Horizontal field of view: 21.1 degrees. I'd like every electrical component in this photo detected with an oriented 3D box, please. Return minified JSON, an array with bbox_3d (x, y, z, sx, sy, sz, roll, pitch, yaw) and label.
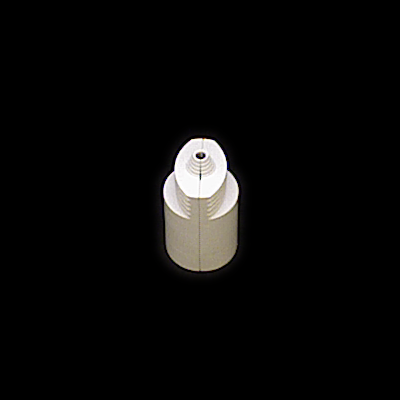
[{"bbox_3d":[0.000,0.000,0.620,0.043,0.043,0.081,0,-38,0],"label":"electrical component"}]
